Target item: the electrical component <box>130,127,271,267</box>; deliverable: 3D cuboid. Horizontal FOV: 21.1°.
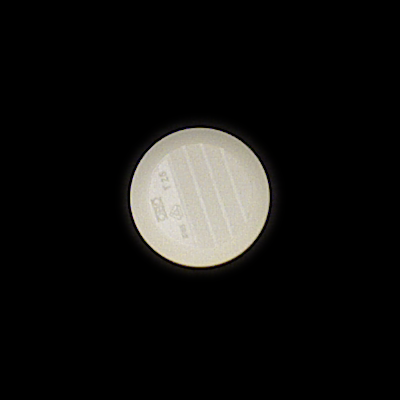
[{"bbox_3d":[0.000,0.000,0.631,0.080,0.080,0.050,0,-7,0],"label":"electrical component"}]
